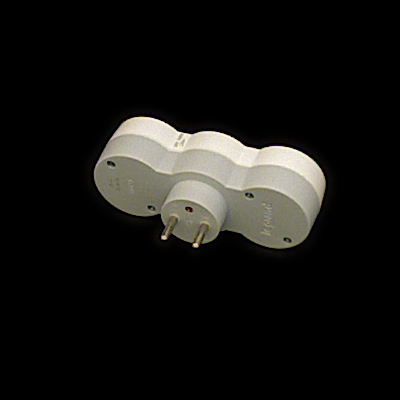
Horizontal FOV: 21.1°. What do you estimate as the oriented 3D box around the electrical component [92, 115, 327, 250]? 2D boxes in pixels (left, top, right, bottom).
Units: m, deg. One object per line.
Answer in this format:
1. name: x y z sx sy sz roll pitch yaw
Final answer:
1. electrical component: 0.000 0.000 0.639 0.137 0.052 0.073 13 46 13
